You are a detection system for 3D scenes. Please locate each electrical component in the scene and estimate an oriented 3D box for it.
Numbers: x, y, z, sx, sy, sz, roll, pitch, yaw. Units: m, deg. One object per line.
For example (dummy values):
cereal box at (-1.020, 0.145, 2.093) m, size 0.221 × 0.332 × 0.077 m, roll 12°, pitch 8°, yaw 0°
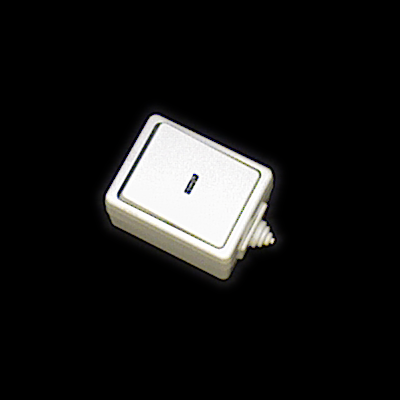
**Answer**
electrical component at (0.000, 0.000, 0.625) m, size 0.096 × 0.062 × 0.060 m, roll 26°, pitch -15°, yaw 7°
